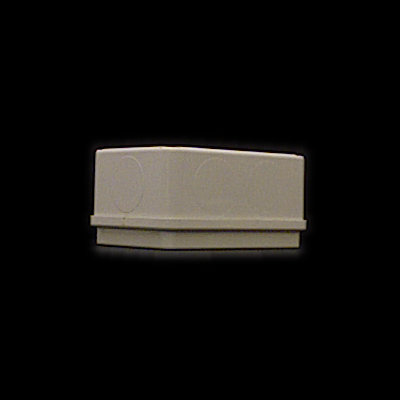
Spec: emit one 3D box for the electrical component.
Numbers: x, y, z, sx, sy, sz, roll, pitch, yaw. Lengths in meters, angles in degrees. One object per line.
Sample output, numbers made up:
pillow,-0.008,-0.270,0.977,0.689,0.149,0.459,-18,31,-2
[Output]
electrical component,0.000,0.000,0.649,0.113,0.057,0.078,1,1,-40
